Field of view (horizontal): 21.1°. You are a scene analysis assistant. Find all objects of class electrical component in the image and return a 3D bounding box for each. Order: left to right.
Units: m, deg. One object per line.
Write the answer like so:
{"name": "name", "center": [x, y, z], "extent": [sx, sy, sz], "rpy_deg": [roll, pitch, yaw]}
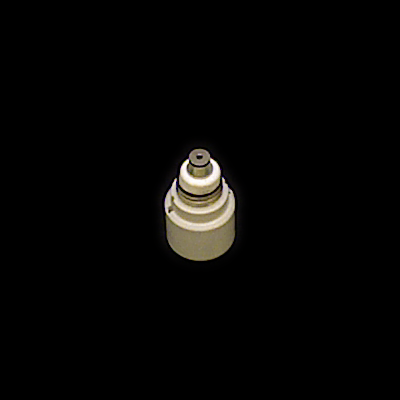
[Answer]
{"name": "electrical component", "center": [0.000, 0.000, 0.621], "extent": [0.040, 0.040, 0.079], "rpy_deg": [0, -37, 0]}
